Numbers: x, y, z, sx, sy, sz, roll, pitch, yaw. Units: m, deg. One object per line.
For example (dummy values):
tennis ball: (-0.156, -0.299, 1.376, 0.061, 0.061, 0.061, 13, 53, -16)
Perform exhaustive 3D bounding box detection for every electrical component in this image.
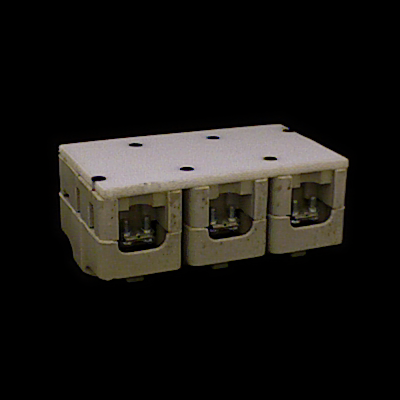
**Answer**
electrical component: (0.000, 0.000, 0.642, 0.150, 0.063, 0.088, -8, 22, -22)
